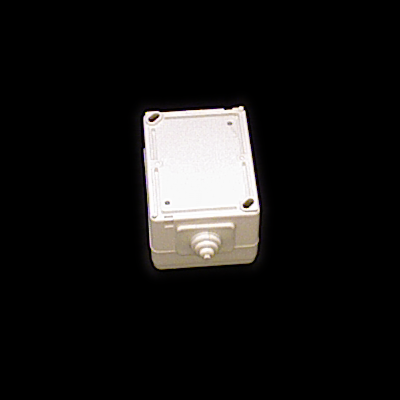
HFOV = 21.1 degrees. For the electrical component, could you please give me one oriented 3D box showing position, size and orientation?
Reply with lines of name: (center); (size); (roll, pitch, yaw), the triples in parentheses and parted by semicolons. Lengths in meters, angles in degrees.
electrical component: (0.000, 0.000, 0.628); (0.062, 0.096, 0.061); (-4, -37, -3)
